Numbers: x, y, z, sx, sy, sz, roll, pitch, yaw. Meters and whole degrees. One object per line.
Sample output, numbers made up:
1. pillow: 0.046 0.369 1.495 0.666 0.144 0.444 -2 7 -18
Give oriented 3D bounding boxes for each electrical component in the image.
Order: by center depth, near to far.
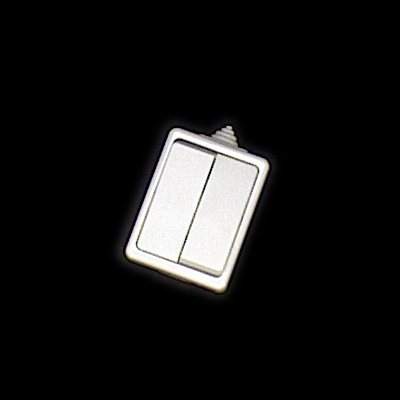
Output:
1. electrical component: 0.000 0.000 0.627 0.062 0.096 0.061 20 -6 3
